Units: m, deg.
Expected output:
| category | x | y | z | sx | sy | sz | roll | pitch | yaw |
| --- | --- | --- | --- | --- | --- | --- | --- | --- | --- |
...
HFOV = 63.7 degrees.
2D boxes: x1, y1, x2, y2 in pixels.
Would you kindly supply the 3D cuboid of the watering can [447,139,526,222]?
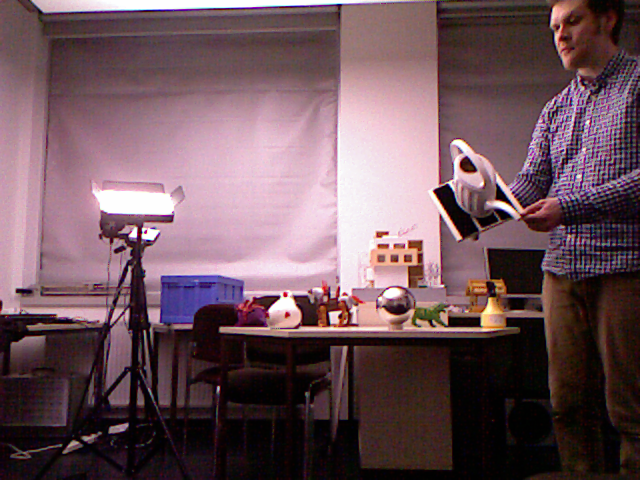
| category | x | y | z | sx | sy | sz | roll | pitch | yaw |
| --- | --- | --- | --- | --- | --- | --- | --- | --- | --- |
| watering can | 0.454 | -0.134 | 1.447 | 0.104 | 0.355 | 0.220 | -26 | -34 | -1 |
